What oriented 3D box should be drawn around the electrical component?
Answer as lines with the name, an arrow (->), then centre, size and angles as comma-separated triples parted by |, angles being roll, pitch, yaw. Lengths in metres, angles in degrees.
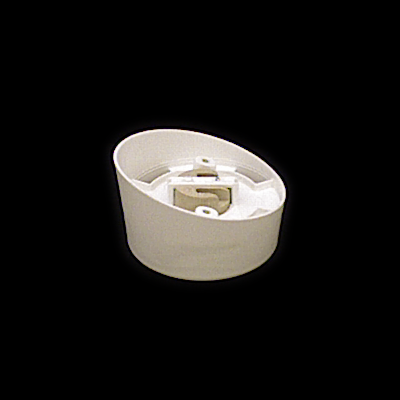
electrical component -> 0.000, 0.000, 0.632 | 0.099, 0.065, 0.097 | 0, 31, 0
